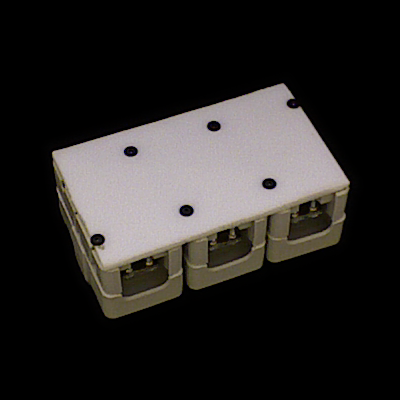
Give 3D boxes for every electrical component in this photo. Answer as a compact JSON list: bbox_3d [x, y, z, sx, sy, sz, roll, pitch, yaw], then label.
[{"bbox_3d":[0.000,0.000,0.635,0.150,0.088,0.063,-18,-35,-14],"label":"electrical component"}]
